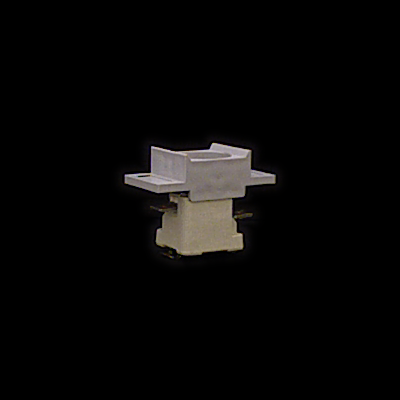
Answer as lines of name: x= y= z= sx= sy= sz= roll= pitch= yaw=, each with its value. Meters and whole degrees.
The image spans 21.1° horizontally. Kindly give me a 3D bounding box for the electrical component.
electrical component: x=0.000 y=0.000 z=0.646 sx=0.081 sy=0.064 sz=0.042 roll=-5 pitch=12 yaw=-30
